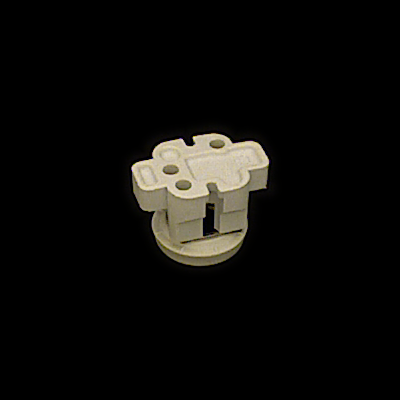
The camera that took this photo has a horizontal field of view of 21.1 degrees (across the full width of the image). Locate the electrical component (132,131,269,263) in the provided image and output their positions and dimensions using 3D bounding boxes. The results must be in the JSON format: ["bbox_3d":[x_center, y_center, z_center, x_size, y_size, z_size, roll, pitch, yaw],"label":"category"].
[{"bbox_3d":[0.000,0.000,0.641,0.079,0.057,0.057,-12,43,-15],"label":"electrical component"}]
